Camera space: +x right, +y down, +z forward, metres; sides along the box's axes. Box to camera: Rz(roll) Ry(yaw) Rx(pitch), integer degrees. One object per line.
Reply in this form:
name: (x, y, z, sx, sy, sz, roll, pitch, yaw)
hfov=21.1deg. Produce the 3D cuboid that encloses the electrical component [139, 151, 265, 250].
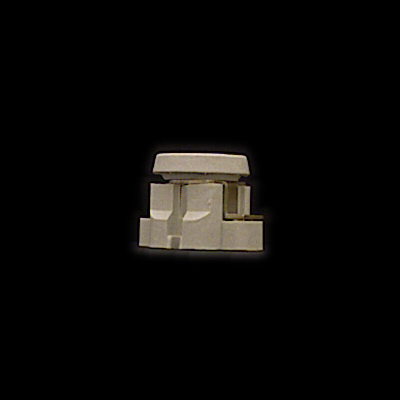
electrical component: (0.000, 0.000, 0.650, 0.078, 0.057, 0.058, 2, 1, 34)
